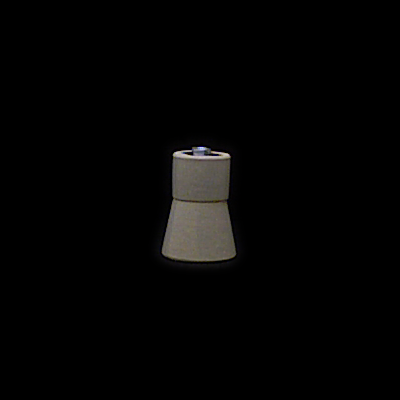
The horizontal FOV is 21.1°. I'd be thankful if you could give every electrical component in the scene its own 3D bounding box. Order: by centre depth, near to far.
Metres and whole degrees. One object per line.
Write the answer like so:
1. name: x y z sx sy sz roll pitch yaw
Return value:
1. electrical component: 0.000 0.000 0.644 0.044 0.066 0.044 2 10 0
